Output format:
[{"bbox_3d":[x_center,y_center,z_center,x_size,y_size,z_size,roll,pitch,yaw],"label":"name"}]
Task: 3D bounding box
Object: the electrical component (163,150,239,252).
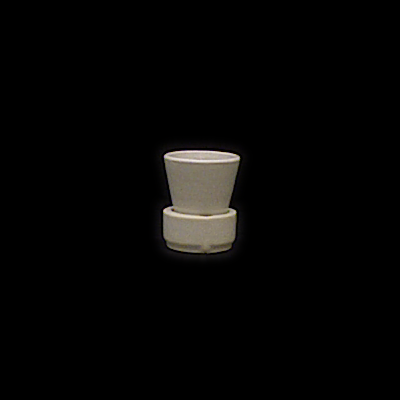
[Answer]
[{"bbox_3d":[0.000,0.000,0.646,0.045,0.055,0.044,2,11,0],"label":"electrical component"}]
